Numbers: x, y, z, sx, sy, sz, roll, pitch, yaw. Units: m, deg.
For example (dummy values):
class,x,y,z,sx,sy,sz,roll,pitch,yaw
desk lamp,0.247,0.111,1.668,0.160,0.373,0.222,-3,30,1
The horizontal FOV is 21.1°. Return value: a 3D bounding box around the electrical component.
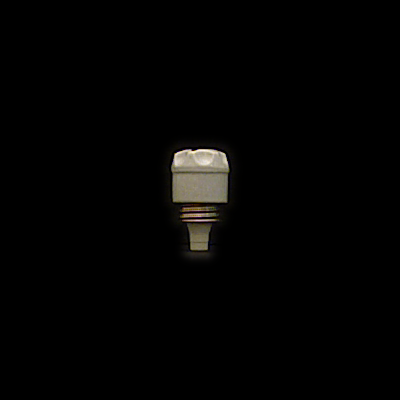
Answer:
class,x,y,z,sx,sy,sz,roll,pitch,yaw
electrical component,0.000,0.000,0.655,0.035,0.061,0.035,1,2,1
